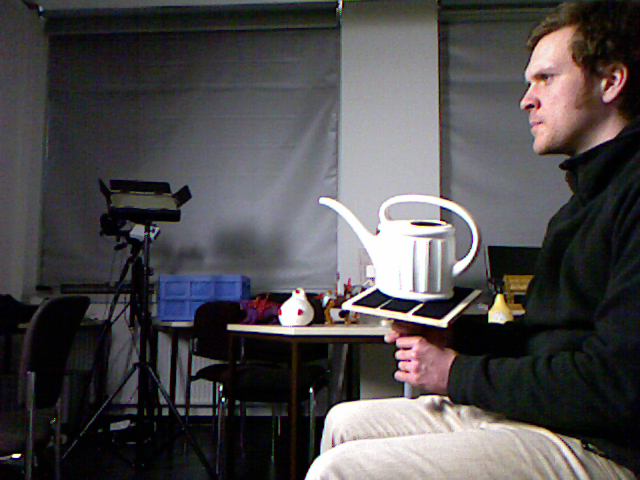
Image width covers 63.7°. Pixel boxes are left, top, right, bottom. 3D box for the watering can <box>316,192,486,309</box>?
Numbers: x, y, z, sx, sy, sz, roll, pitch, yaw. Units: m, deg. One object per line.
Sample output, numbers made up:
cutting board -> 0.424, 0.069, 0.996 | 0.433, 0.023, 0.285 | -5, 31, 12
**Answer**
watering can -> 0.147, 0.013, 1.006 | 0.349, 0.222, 0.105 | 8, 16, 31
